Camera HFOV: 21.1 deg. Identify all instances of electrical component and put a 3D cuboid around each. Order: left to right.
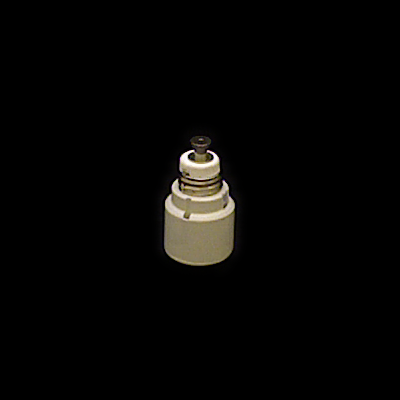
[{"bbox_3d":[0.000,0.000,0.628,0.040,0.079,0.039,1,30,0],"label":"electrical component"}]
